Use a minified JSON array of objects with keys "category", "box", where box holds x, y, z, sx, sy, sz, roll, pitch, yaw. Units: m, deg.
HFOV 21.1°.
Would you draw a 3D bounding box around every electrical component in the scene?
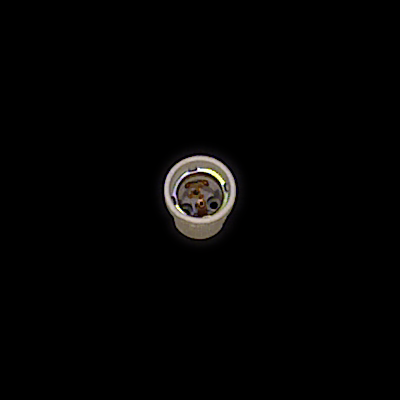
[{"category":"electrical component","box":[0.000,0.000,0.627,0.040,0.040,0.046,0,-17,-1]}]
